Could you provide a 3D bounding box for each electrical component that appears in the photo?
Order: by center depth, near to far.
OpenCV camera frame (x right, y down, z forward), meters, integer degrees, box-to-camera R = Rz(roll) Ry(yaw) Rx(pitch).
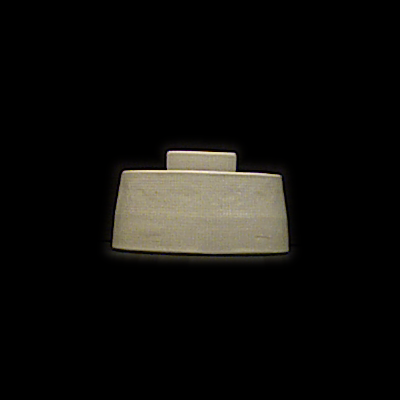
[{"bbox_3d":[0.000,0.000,0.657,0.108,0.060,0.108,1,1,1],"label":"electrical component"}]
